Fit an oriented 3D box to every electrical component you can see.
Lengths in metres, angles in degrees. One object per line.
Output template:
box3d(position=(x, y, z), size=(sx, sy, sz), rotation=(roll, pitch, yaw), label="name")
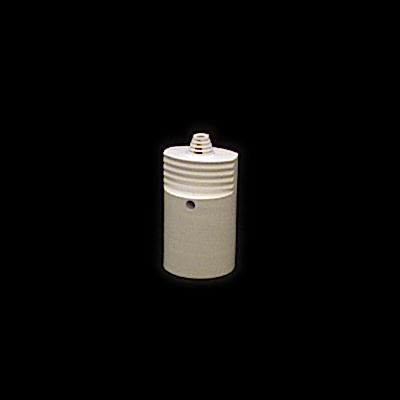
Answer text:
box3d(position=(0.000, 0.000, 0.635), size=(0.043, 0.082, 0.042), rotation=(1, 21, 0), label="electrical component")
